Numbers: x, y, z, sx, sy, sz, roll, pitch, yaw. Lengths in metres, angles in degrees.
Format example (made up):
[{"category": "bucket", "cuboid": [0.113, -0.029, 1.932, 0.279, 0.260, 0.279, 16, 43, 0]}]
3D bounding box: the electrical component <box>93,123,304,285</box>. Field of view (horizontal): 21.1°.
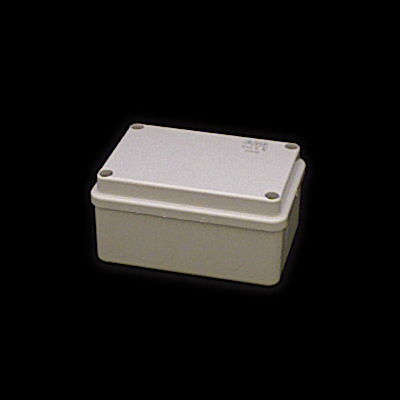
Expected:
[{"category": "electrical component", "cuboid": [0.000, 0.000, 0.637, 0.113, 0.058, 0.077, 8, 32, 11]}]
